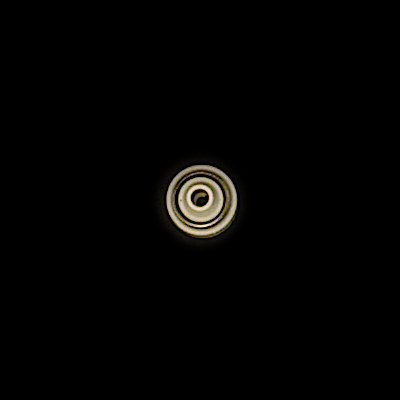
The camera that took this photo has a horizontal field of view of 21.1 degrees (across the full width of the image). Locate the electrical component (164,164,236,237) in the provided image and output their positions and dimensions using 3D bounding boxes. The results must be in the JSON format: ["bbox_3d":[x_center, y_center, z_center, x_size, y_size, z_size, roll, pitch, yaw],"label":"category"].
[{"bbox_3d":[0.000,0.000,0.635,0.043,0.043,0.062,0,-4,2],"label":"electrical component"}]
